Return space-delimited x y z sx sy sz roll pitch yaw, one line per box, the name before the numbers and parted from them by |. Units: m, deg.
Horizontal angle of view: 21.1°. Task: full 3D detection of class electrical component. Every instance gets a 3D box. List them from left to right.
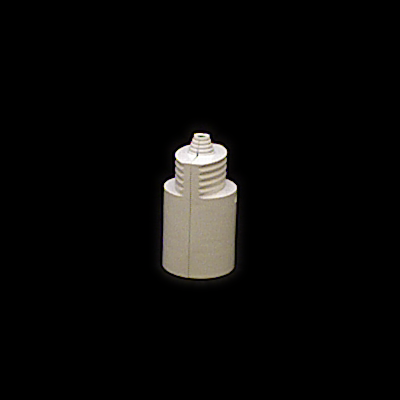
electrical component | 0.000 0.000 0.634 0.043 0.082 0.042 1 21 0
